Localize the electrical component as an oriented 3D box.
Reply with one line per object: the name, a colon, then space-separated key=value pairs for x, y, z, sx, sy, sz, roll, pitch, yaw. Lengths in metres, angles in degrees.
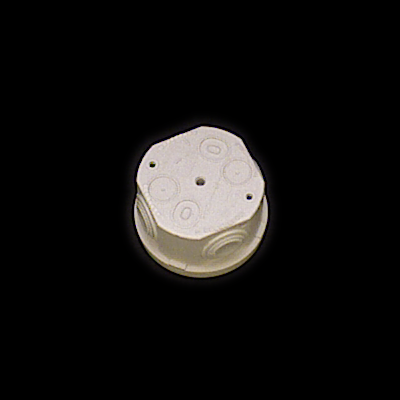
electrical component: x=0.000 y=0.000 z=0.632 sx=0.080 sy=0.080 sz=0.050 roll=0 pitch=-27 yaw=1
